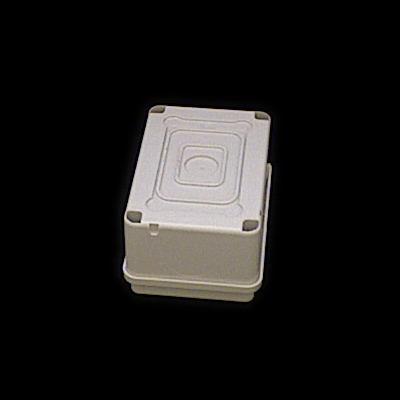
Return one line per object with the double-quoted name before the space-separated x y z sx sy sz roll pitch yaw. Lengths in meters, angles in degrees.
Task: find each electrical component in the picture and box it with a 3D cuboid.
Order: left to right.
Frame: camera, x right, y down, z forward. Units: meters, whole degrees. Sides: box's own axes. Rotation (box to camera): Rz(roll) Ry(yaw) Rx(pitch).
"electrical component" 0.000 0.000 0.632 0.078 0.057 0.112 4 41 4
